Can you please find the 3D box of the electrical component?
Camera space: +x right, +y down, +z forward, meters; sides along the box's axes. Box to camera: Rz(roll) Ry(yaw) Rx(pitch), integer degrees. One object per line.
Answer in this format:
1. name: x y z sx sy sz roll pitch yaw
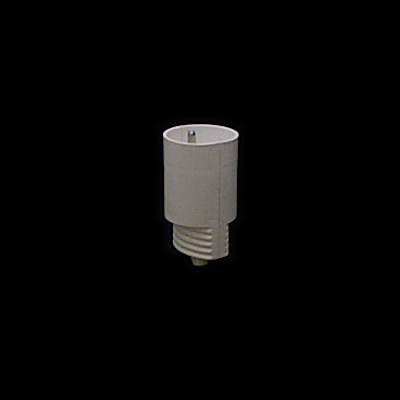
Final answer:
1. electrical component: 0.000 0.000 0.634 0.043 0.082 0.042 1 20 0
